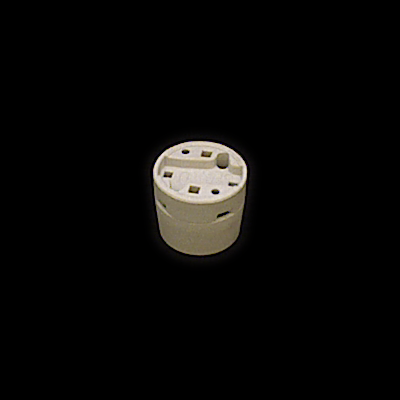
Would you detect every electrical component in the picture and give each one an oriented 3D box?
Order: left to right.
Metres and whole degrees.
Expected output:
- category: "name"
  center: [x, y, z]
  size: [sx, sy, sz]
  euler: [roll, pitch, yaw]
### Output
- category: "electrical component"
  center: [0.000, 0.000, 0.637]
  size: [0.055, 0.047, 0.055]
  euler: [0, 42, 0]
